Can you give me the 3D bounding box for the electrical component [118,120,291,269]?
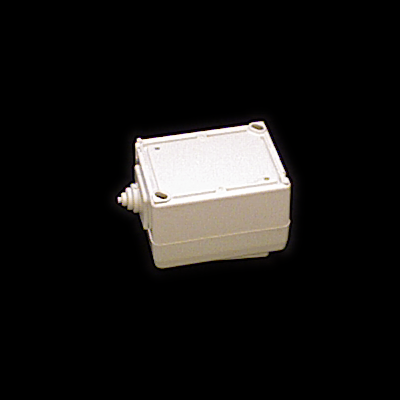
[{"bbox_3d":[0.000,0.000,0.633,0.096,0.061,0.061,-9,43,-9],"label":"electrical component"}]
